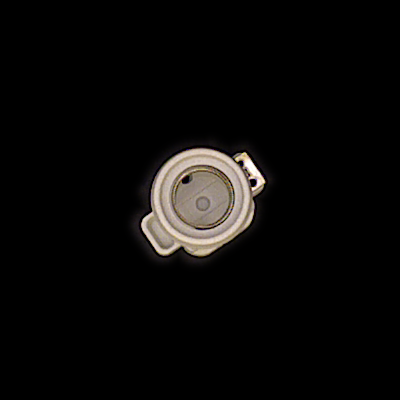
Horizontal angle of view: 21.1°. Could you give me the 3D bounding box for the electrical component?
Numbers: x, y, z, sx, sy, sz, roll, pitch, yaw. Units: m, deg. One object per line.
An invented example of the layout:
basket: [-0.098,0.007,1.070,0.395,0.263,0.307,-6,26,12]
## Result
electrical component: [0.000,0.000,0.630,0.078,0.058,0.056,-35,-5,-3]
